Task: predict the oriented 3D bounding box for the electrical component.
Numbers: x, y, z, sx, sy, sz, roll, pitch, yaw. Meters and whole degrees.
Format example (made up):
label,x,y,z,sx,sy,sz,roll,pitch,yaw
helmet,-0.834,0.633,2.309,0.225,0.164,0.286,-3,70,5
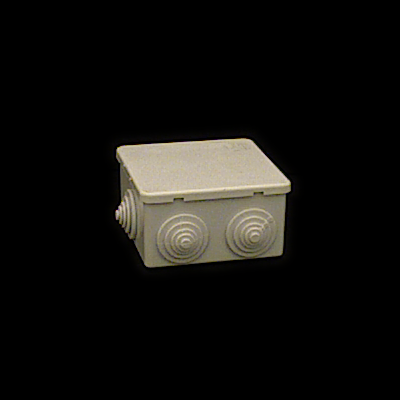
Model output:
label,x,y,z,sx,sy,sz,roll,pitch,yaw
electrical component,0.000,0.000,0.650,0.100,0.049,0.098,-4,22,-14
